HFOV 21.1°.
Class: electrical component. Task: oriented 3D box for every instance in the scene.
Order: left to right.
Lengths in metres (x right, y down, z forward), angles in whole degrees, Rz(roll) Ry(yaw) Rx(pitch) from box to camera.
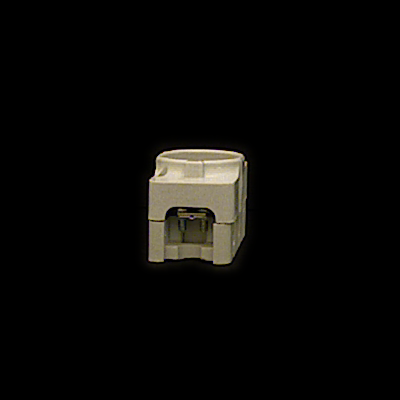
[{"bbox_3d":[0.000,0.000,0.651,0.050,0.056,0.089,2,11,7],"label":"electrical component"}]
